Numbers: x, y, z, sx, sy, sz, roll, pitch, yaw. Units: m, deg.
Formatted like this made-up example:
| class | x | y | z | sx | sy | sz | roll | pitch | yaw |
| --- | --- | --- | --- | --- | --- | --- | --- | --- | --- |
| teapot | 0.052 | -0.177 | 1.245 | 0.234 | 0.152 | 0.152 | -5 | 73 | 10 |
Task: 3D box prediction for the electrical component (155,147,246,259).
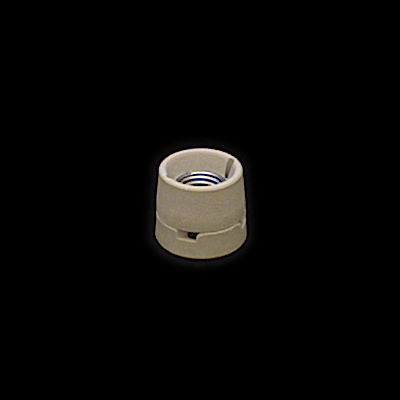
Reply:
| class | x | y | z | sx | sy | sz | roll | pitch | yaw |
| --- | --- | --- | --- | --- | --- | --- | --- | --- | --- |
| electrical component | 0.000 | 0.000 | 0.637 | 0.055 | 0.047 | 0.055 | 0 | 31 | 0 |
